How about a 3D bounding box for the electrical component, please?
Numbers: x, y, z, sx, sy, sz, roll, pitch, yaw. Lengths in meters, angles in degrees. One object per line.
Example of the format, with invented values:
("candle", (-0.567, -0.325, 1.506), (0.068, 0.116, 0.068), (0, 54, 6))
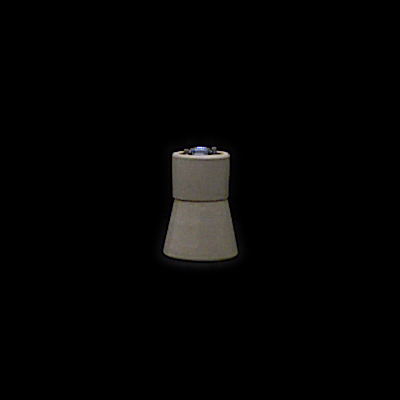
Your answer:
("electrical component", (0.000, 0.000, 0.646), (0.044, 0.066, 0.044), (0, 10, 0))
